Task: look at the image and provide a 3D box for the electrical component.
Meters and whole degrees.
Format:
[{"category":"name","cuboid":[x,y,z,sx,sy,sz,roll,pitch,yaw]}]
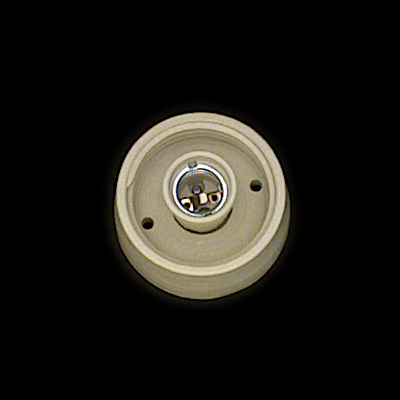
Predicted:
[{"category":"electrical component","cuboid":[0.000,0.000,0.634,0.108,0.108,0.060,0,-16,0]}]
